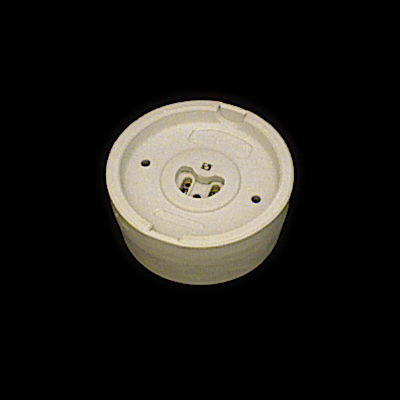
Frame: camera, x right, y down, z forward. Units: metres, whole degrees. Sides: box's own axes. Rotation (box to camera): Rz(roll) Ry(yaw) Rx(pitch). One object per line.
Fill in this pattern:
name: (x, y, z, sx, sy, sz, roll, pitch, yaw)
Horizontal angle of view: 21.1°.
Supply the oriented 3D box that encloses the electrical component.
electrical component: (0.000, 0.000, 0.638, 0.108, 0.107, 0.061, 0, -37, 0)
